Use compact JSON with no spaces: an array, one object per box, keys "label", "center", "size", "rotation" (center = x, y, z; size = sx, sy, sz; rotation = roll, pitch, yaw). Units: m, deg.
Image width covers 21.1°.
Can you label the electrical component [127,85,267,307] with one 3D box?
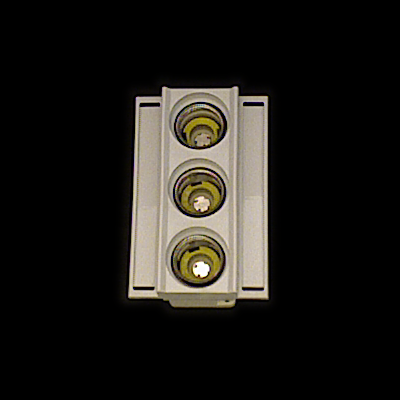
[{"label":"electrical component","center":[0.000,0.000,0.636],"size":[0.079,0.122,0.063],"rotation":[1,-16,3]}]
